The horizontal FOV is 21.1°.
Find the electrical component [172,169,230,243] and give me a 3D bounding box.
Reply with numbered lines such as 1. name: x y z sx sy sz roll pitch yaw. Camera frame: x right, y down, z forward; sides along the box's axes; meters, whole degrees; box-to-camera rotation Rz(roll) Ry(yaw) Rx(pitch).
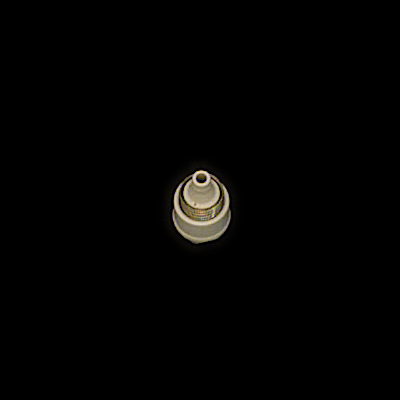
1. electrical component: 0.000 0.000 0.638 0.035 0.035 0.061 0 -25 0
